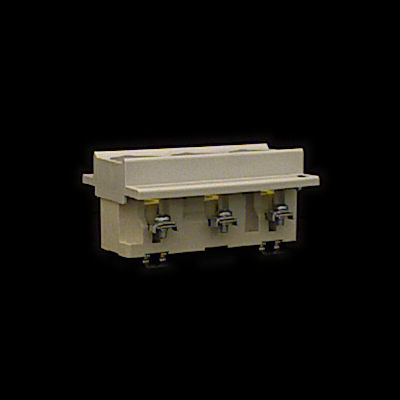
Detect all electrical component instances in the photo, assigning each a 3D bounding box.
[{"bbox_3d":[0.000,0.000,0.657,0.122,0.063,0.078,-5,11,-29],"label":"electrical component"}]
